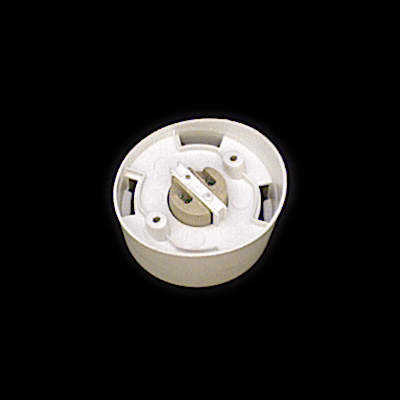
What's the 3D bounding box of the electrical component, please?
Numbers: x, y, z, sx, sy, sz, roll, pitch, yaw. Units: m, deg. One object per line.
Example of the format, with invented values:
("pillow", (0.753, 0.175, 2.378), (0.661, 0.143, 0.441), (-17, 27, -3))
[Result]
("electrical component", (0.000, 0.000, 0.624), (0.099, 0.099, 0.064), (0, -27, -1))
